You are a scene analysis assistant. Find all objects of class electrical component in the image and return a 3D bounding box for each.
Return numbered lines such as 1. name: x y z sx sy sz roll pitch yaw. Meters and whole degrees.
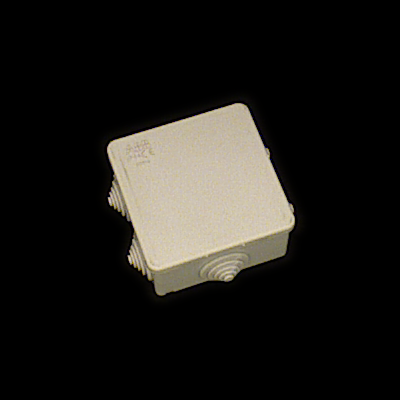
1. electrical component: 0.000 0.000 0.639 0.100 0.099 0.048 -17 -25 -9
